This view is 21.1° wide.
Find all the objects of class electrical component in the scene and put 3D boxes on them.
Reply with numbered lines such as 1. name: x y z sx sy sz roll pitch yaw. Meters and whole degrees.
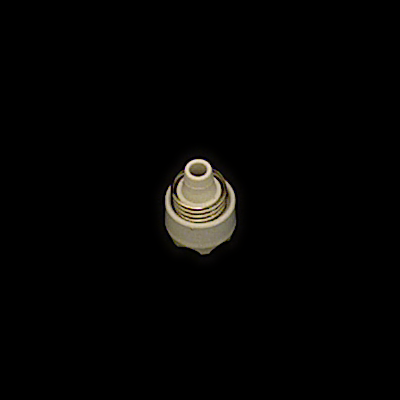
1. electrical component: 0.000 0.000 0.635 0.043 0.043 0.062 0 -37 1
